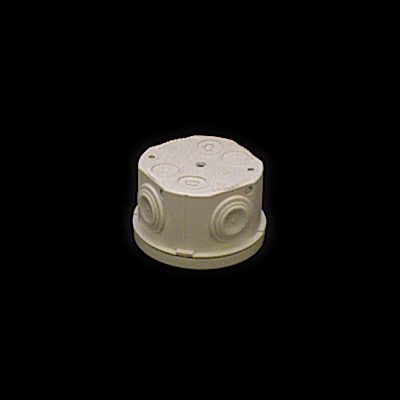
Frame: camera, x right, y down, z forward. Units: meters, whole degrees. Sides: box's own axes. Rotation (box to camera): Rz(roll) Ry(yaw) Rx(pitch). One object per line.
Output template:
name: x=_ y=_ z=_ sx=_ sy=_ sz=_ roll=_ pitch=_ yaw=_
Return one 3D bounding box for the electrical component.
electrical component: x=0.000 y=0.000 z=0.637 sx=0.080 sy=0.051 sz=0.079 roll=1 pitch=31 yaw=-1
